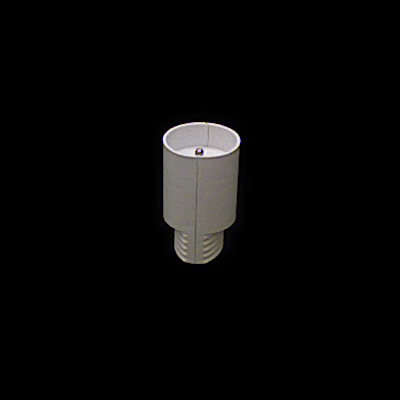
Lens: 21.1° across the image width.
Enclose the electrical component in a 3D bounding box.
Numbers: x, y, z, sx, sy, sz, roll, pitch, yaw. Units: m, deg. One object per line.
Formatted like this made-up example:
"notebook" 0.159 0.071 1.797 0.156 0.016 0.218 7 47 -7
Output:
"electrical component" 0.000 0.000 0.627 0.043 0.082 0.042 0 32 0
